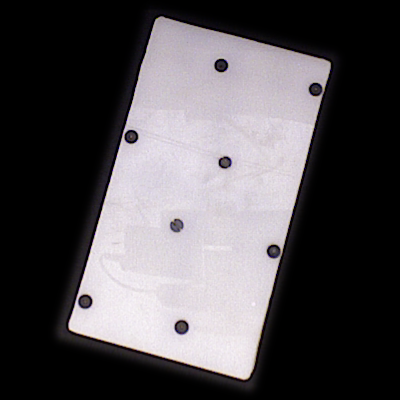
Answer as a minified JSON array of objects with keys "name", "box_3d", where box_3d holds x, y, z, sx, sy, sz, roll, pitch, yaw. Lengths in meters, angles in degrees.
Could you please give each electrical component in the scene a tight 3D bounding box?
[{"name":"electrical component","box_3d":[0.000,0.000,0.626,0.105,0.187,0.060,15,-6,2]}]
